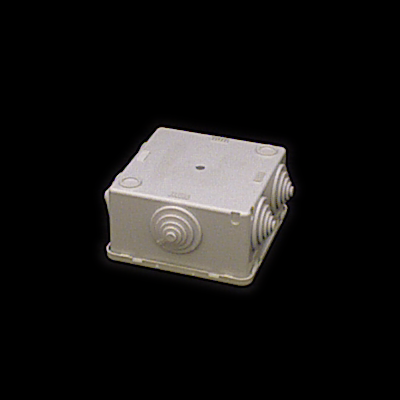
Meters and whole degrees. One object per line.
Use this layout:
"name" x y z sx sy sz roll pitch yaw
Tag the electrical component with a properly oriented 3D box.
"electrical component" 0.000 0.000 0.636 0.099 0.049 0.099 10 33 15
